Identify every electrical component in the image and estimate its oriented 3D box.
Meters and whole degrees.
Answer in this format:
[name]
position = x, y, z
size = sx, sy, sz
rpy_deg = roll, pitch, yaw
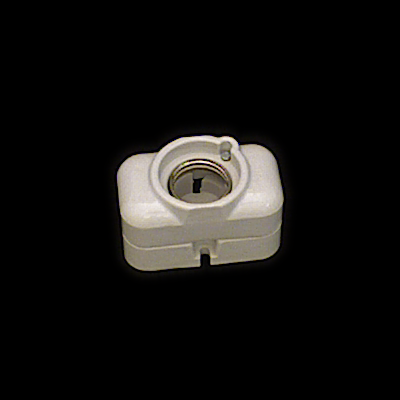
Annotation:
[electrical component]
position = 0.000, 0.000, 0.636
size = 0.095, 0.053, 0.059
rpy_deg = -6, -36, -5
